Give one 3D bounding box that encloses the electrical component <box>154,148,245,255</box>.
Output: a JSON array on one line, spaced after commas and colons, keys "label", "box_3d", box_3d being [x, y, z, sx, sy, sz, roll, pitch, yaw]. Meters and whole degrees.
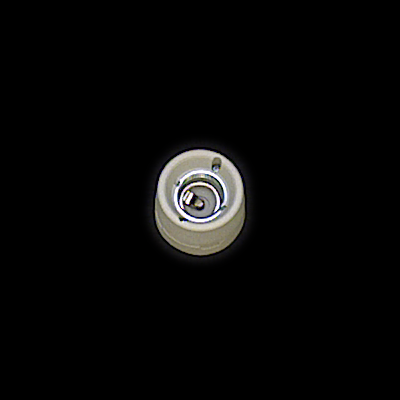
[{"label": "electrical component", "box_3d": [0.000, 0.000, 0.633, 0.055, 0.056, 0.047, 0, -17, -1]}]
